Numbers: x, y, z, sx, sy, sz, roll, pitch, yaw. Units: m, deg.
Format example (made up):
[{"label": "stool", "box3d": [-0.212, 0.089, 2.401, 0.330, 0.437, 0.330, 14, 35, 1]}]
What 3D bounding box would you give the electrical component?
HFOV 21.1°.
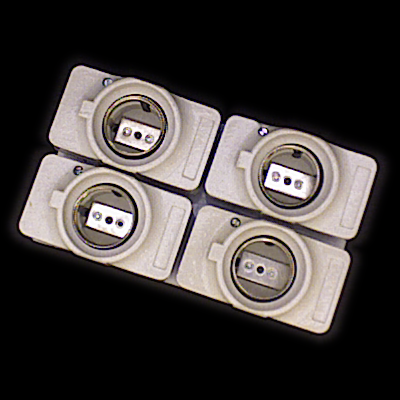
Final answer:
[{"label": "electrical component", "box3d": [0.000, 0.000, 0.626, 0.186, 0.106, 0.060, 18, -6, 2]}]
